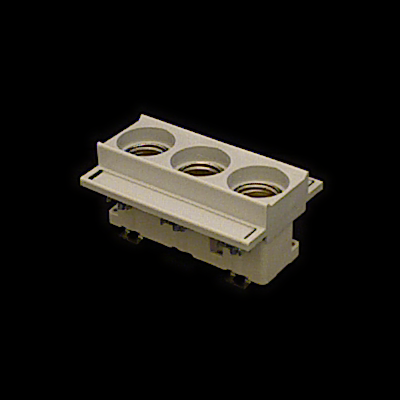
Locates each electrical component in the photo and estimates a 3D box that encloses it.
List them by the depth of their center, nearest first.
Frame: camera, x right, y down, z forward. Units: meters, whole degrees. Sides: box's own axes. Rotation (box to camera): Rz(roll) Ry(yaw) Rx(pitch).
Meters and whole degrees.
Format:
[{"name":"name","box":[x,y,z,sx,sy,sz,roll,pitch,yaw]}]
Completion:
[{"name":"electrical component","box":[0.000,0.000,0.645,0.120,0.064,0.078,22,39,30]}]
